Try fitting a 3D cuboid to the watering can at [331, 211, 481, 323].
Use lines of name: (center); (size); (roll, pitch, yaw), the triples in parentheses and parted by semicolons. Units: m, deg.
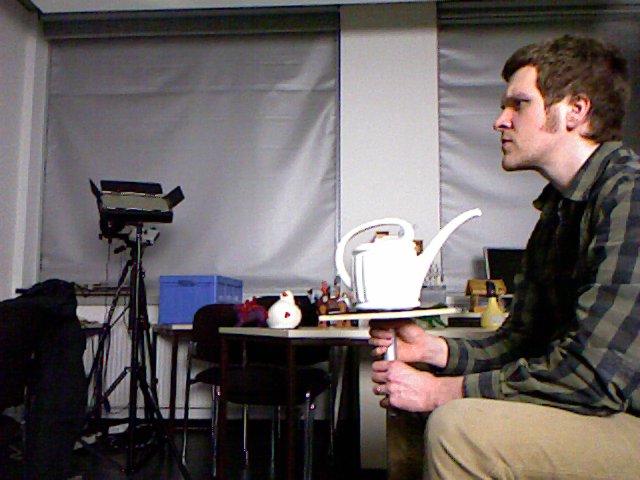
watering can: (0.170, 0.057, 1.060); (0.346, 0.225, 0.104); (-9, -5, 35)
